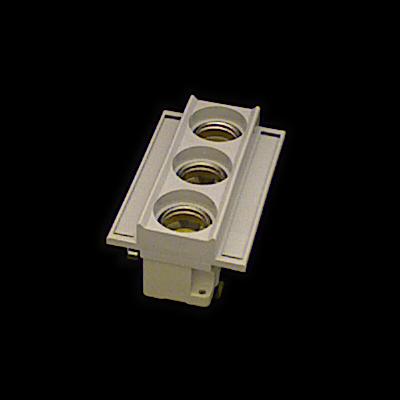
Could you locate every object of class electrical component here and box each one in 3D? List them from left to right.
[{"bbox_3d":[0.000,0.000,0.643,0.078,0.064,0.120,11,43,9],"label":"electrical component"}]
